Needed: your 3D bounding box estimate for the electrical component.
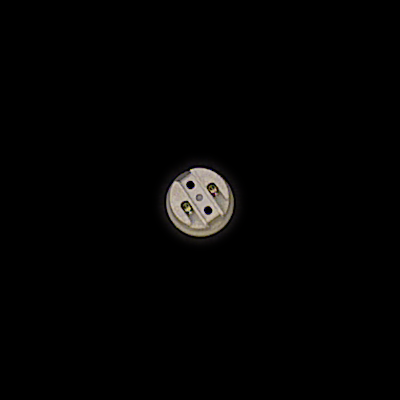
[{"bbox_3d":[0.000,0.000,0.634,0.040,0.040,0.046,0,-6,1],"label":"electrical component"}]
